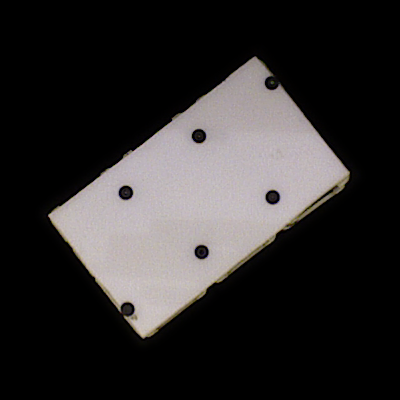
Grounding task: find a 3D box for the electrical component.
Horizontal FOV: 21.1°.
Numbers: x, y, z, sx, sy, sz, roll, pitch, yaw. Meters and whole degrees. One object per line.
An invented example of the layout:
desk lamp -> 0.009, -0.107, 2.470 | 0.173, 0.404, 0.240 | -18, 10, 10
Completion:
electrical component -> 0.000, 0.000, 0.631 | 0.150, 0.089, 0.061 | -37, -5, -4
